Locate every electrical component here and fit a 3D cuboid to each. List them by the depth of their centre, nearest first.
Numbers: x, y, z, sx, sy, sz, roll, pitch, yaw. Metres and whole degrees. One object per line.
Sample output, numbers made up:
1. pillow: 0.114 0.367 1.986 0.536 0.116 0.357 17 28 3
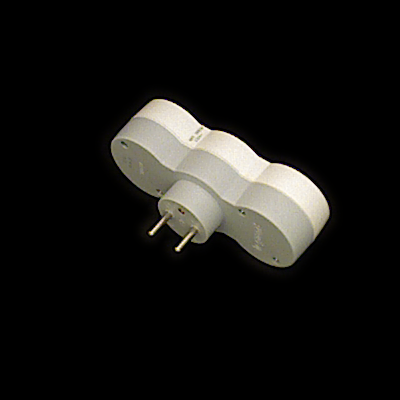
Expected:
1. electrical component: 0.000 0.000 0.638 0.137 0.074 0.052 30 -30 20
